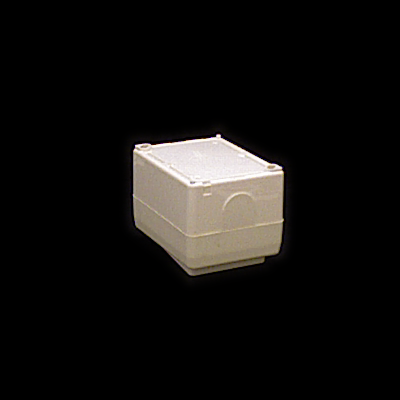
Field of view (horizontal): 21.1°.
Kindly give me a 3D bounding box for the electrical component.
[{"bbox_3d":[0.000,0.000,0.642,0.061,0.061,0.095,-10,22,-26],"label":"electrical component"}]
